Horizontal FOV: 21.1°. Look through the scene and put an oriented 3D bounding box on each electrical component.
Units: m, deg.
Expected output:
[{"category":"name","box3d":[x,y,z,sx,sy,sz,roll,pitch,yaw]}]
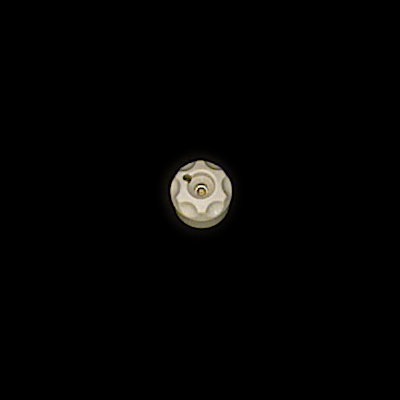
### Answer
[{"category":"electrical component","box3d":[0.000,0.000,0.634,0.035,0.035,0.061,0,-16,1]}]
